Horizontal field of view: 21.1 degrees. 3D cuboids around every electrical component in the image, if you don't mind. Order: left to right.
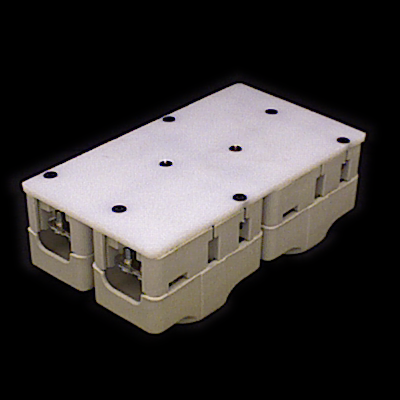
[{"bbox_3d":[0.000,0.000,0.633,0.104,0.061,0.185,26,39,35],"label":"electrical component"}]
